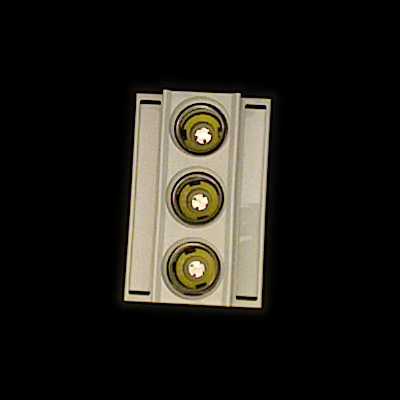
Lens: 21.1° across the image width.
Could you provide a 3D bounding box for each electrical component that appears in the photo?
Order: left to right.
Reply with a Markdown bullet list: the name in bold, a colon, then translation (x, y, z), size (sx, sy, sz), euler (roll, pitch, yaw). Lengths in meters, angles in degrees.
- **electrical component**: translation (0.000, 0.000, 0.637), size (0.079, 0.121, 0.063), euler (3, -6, 2)
